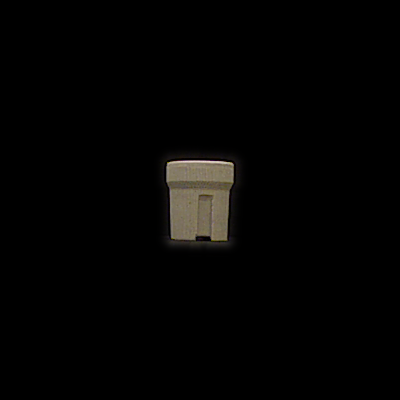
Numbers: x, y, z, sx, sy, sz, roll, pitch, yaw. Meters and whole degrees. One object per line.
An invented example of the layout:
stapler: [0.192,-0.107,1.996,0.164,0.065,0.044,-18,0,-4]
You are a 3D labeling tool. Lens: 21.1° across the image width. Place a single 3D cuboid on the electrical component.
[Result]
electrical component: [0.000,0.000,0.651,0.040,0.046,0.040,1,1,1]
